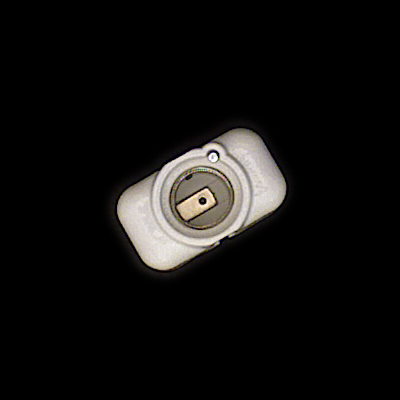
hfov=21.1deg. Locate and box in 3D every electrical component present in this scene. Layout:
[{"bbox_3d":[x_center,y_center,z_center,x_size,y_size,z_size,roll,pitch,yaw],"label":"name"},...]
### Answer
[{"bbox_3d":[0.000,0.000,0.635,0.095,0.054,0.059,-30,-5,-3],"label":"electrical component"}]
